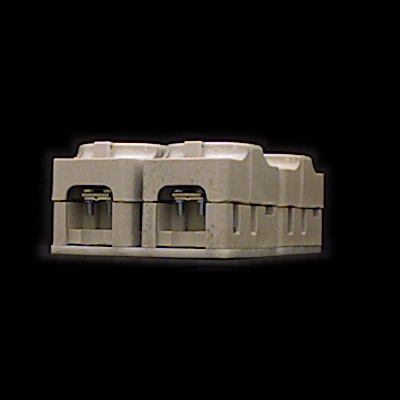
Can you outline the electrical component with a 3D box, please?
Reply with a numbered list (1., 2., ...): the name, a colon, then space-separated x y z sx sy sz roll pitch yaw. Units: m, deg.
1. electrical component: 0.000 0.000 0.649 0.105 0.060 0.186 1 0 22
